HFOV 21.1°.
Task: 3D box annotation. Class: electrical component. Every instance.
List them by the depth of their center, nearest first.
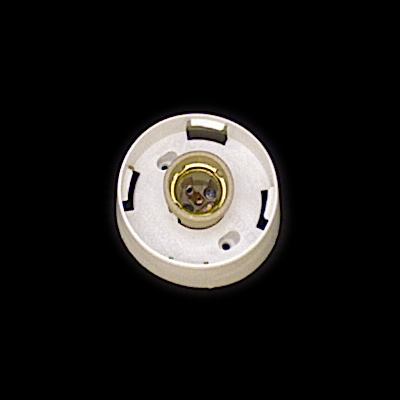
[{"bbox_3d":[0.000,0.000,0.624,0.099,0.099,0.063,0,-17,-1],"label":"electrical component"}]
